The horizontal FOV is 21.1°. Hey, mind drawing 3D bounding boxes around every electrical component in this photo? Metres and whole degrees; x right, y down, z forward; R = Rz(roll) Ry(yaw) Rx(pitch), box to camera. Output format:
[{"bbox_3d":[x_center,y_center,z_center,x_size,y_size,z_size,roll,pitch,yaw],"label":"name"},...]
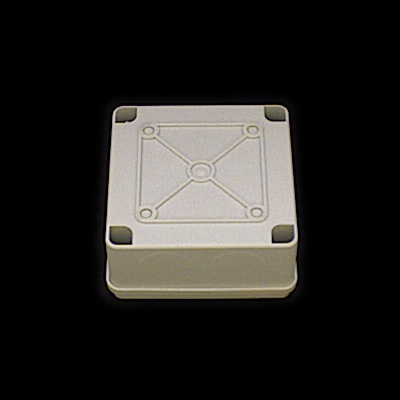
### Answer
[{"bbox_3d":[0.000,0.000,0.629,0.109,0.108,0.056,0,-38,0],"label":"electrical component"}]
